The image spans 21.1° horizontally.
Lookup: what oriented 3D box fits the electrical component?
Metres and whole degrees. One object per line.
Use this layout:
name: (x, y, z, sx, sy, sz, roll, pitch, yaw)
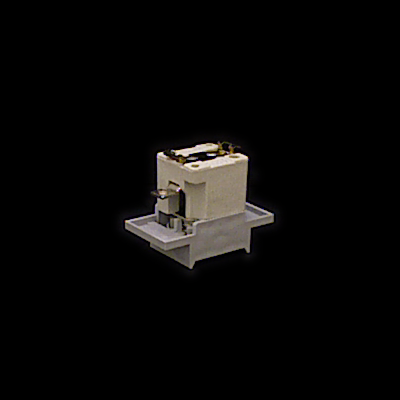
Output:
electrical component: (0.000, 0.000, 0.639, 0.081, 0.064, 0.042, -15, 26, -35)
